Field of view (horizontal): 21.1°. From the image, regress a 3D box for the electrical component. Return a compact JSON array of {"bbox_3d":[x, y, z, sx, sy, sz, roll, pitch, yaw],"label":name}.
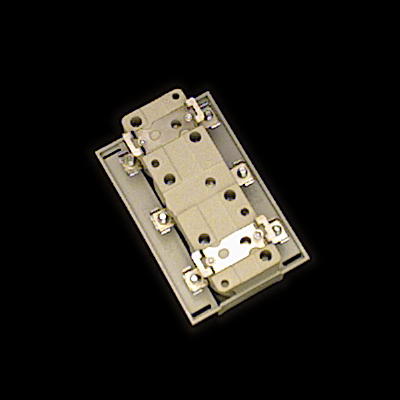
[{"bbox_3d":[0.000,0.000,0.633,0.079,0.121,0.062,-29,-14,-7],"label":"electrical component"}]
